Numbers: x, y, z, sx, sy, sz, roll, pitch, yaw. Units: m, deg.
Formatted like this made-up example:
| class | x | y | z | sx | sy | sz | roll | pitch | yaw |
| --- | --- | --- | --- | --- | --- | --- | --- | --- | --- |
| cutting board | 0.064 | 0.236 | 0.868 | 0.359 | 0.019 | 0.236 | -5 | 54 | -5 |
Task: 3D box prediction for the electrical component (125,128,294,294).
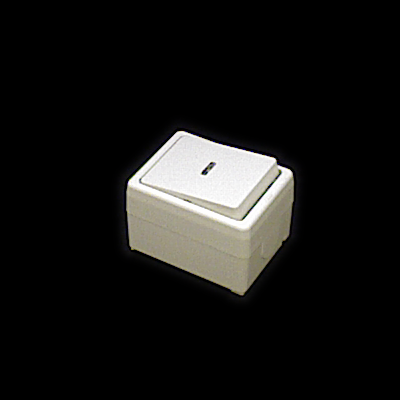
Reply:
| class | x | y | z | sx | sy | sz | roll | pitch | yaw |
| --- | --- | --- | --- | --- | --- | --- | --- | --- | --- |
| electrical component | 0.000 | 0.000 | 0.631 | 0.096 | 0.061 | 0.061 | 21 | 46 | 21 |
